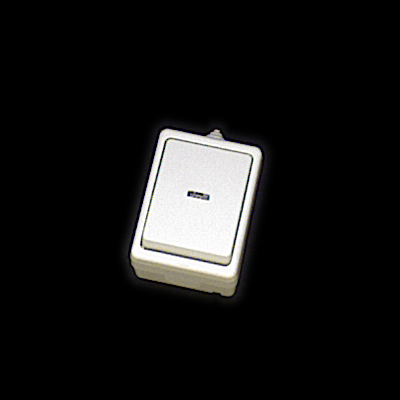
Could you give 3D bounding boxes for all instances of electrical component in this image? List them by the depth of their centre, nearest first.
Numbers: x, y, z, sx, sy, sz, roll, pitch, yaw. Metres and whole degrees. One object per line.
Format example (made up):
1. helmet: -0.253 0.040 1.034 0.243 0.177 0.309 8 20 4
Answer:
1. electrical component: 0.000 0.000 0.626 0.062 0.096 0.060 12 -17 3
